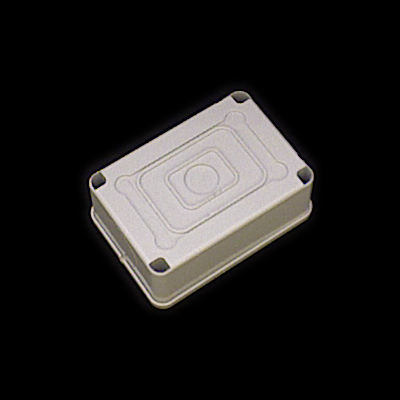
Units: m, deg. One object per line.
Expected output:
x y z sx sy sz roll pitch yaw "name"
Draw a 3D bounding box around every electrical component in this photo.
0.000 0.000 0.628 0.113 0.078 0.057 -32 -23 -15 "electrical component"
